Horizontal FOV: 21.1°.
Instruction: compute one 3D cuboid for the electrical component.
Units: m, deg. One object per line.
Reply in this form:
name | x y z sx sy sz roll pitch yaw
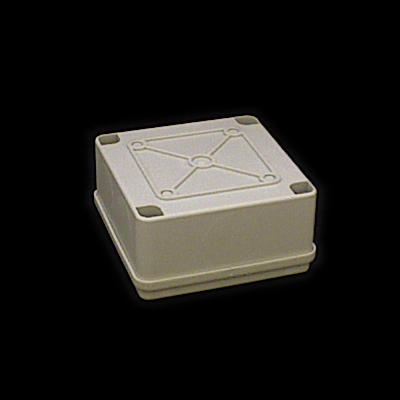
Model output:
electrical component | 0.000 0.000 0.637 0.109 0.057 0.107 -9 32 -17
